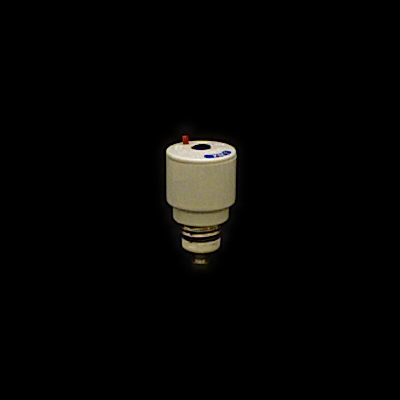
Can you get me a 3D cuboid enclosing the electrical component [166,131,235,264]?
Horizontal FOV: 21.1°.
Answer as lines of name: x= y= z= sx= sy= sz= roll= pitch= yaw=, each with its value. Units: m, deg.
electrical component: x=0.000 y=0.000 z=0.637 sx=0.040 sy=0.079 sz=0.039 roll=1 pitch=21 yaw=0
